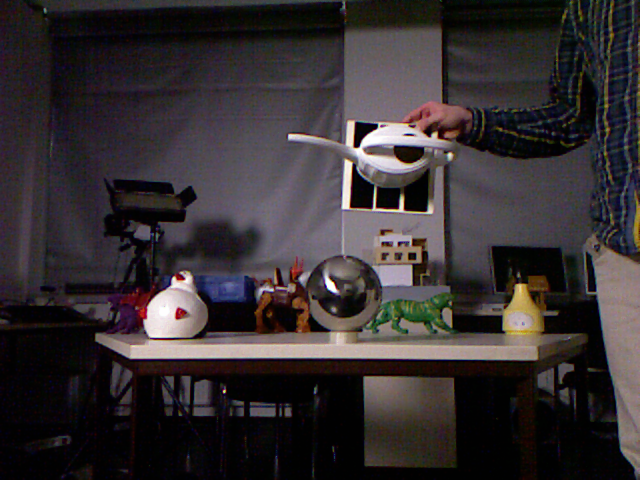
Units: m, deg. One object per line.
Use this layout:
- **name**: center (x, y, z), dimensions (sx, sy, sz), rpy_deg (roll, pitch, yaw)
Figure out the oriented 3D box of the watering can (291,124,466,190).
- **watering can**: center (0.118, -0.179, 1.071), dimensions (0.348, 0.105, 0.222), rpy_deg (4, -10, 0)
